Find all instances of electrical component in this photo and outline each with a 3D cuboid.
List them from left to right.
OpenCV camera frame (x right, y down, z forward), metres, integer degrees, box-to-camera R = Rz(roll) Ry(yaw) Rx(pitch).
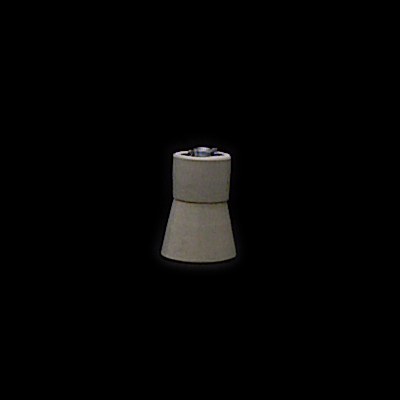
[{"bbox_3d":[0.000,0.000,0.642,0.044,0.066,0.044,2,11,0],"label":"electrical component"}]
